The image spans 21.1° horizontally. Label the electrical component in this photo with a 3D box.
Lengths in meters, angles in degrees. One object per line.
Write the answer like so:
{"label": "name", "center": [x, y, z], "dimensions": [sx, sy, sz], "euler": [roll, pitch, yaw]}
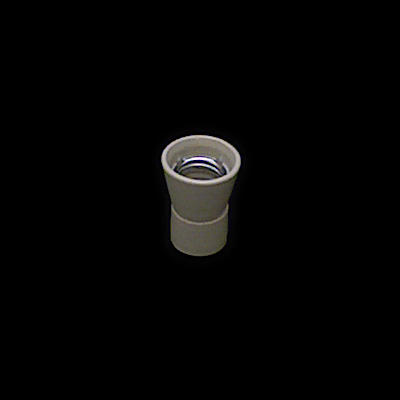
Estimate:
{"label": "electrical component", "center": [0.000, 0.000, 0.631], "dimensions": [0.044, 0.066, 0.044], "euler": [1, 41, -1]}
